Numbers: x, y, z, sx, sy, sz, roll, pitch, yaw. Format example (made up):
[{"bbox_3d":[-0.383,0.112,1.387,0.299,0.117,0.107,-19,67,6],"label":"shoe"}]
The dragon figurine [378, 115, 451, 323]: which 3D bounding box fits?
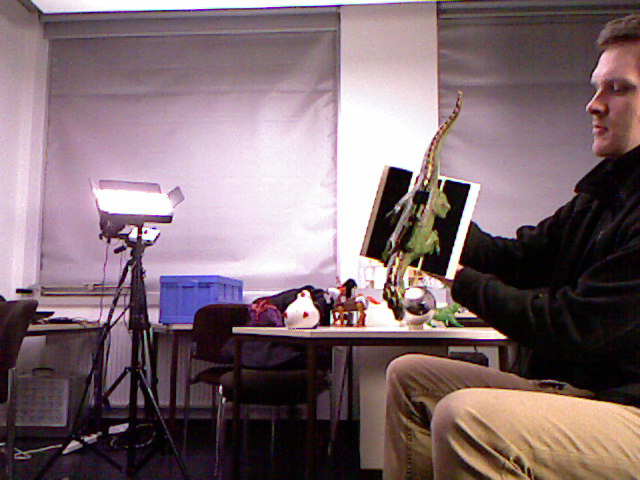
[{"bbox_3d":[0.187,-0.052,0.965,0.123,0.411,0.244,14,4,8],"label":"dragon figurine"}]
